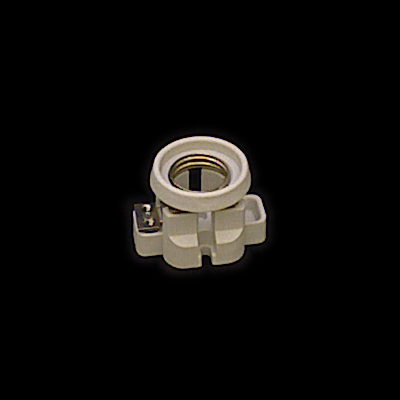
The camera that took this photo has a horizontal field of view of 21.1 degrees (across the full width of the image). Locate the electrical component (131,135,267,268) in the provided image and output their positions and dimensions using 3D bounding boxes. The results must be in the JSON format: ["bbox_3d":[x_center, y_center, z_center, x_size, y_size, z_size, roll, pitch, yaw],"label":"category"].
[{"bbox_3d":[0.000,0.000,0.630,0.078,0.057,0.057,-6,43,-8],"label":"electrical component"}]
